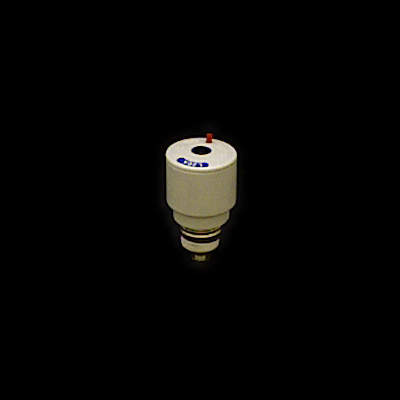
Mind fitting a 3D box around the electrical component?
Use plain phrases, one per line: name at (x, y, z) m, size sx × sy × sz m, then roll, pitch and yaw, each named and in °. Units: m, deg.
electrical component at (0.000, 0.000, 0.631) m, size 0.040 × 0.079 × 0.039 m, roll 1°, pitch 30°, yaw 0°
